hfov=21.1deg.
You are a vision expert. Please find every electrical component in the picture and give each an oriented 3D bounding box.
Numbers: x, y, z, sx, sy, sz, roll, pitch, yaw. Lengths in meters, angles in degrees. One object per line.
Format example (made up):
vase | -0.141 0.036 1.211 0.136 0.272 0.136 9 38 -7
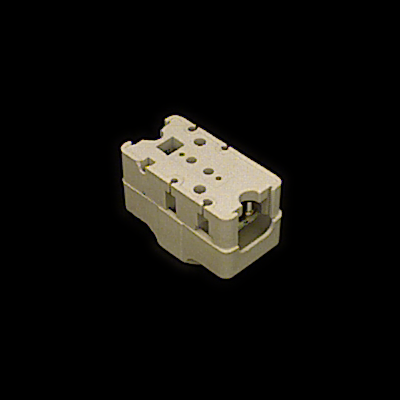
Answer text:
electrical component | 0.000 0.000 0.639 0.088 0.056 0.050 34 53 31
